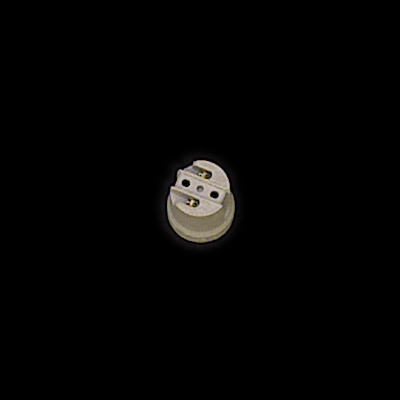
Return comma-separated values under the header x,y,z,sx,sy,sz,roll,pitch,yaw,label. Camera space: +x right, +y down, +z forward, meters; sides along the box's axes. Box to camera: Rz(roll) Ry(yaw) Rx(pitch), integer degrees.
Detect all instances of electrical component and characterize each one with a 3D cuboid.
x,y,z,sx,sy,sz,roll,pitch,yaw,label
0.000,0.000,0.633,0.040,0.040,0.046,0,-17,0,electrical component
